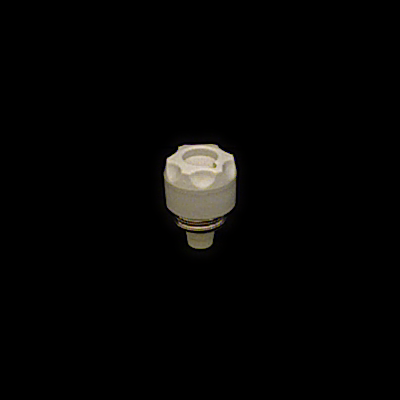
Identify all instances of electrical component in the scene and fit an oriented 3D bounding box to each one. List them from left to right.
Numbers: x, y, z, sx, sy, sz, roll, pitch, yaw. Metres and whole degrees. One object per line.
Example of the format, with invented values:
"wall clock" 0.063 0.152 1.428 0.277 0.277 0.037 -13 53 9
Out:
"electrical component" 0.000 0.000 0.642 0.043 0.063 0.043 0 32 0
